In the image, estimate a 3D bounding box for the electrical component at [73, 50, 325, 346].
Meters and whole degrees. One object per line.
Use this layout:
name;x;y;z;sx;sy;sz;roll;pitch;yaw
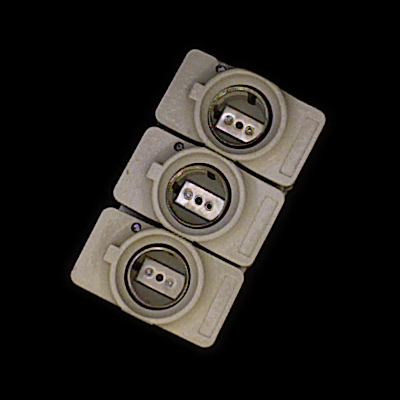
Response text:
electrical component;0.000;0.000;0.632;0.089;0.150;0.061;27;-6;3
